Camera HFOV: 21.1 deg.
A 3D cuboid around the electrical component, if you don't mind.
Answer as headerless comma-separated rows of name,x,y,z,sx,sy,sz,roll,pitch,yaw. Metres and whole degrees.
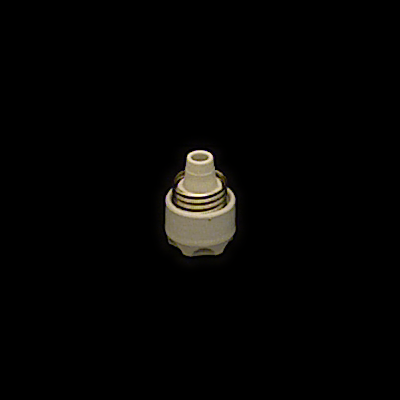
electrical component,0.000,0.000,0.640,0.043,0.063,0.043,0,33,1
